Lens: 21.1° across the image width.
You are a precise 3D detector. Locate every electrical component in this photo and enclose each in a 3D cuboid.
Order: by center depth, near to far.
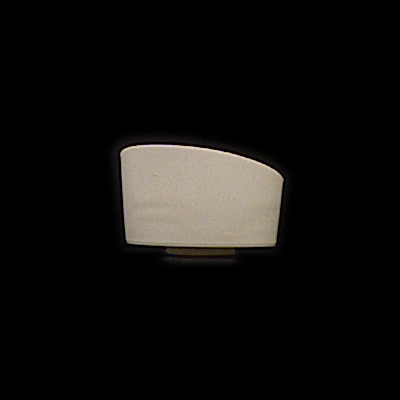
[{"bbox_3d":[0.000,0.000,0.649,0.099,0.064,0.099,1,1,0],"label":"electrical component"}]
